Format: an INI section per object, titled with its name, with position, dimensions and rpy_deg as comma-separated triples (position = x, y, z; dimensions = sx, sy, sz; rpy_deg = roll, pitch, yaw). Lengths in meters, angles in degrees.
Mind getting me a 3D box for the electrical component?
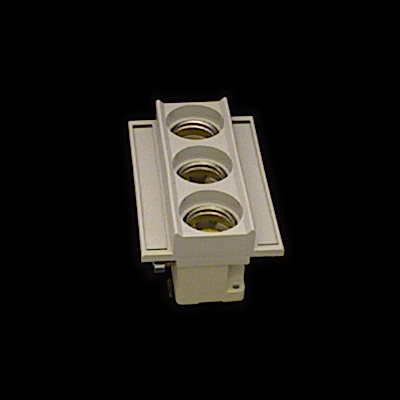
[electrical component]
position = 0.000, 0.000, 0.643
dimensions = 0.079, 0.064, 0.119
rpy_deg = -3, 43, -6
